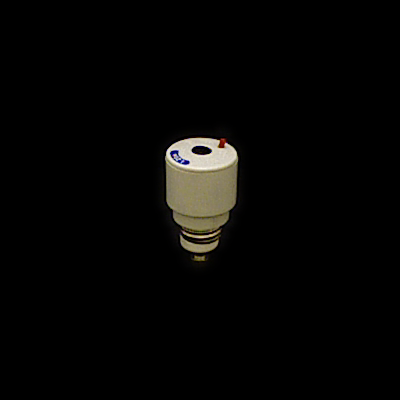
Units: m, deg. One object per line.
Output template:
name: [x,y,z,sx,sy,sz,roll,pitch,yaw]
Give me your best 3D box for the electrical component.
electrical component: [0.000,0.000,0.630,0.040,0.079,0.039,1,31,-1]
